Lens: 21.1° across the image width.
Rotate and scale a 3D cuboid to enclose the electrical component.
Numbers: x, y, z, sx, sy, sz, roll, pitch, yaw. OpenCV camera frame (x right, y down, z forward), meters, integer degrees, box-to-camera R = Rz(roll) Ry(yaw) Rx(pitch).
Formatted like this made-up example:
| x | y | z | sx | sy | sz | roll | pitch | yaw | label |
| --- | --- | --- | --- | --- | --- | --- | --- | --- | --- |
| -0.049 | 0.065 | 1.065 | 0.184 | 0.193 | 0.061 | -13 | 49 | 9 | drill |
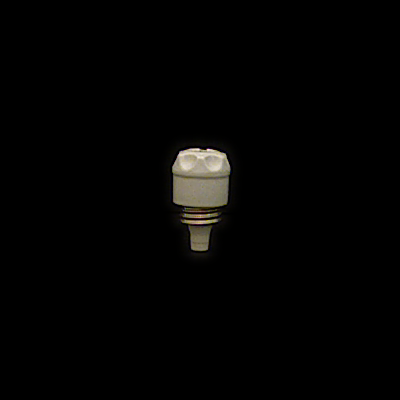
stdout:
| x | y | z | sx | sy | sz | roll | pitch | yaw | label |
| --- | --- | --- | --- | --- | --- | --- | --- | --- | --- |
| 0.000 | 0.000 | 0.653 | 0.035 | 0.062 | 0.035 | 1 | 12 | 0 | electrical component |
